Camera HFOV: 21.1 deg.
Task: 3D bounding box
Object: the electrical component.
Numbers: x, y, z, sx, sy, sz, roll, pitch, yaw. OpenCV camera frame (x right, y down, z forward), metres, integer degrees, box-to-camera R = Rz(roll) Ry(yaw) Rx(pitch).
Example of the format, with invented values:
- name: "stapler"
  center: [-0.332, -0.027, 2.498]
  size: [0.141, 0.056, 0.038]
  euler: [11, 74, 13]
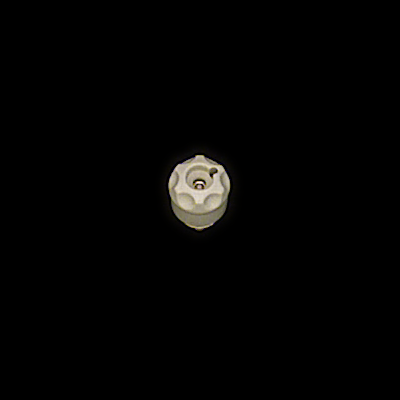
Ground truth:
- name: "electrical component"
  center: [0.000, 0.000, 0.634]
  size: [0.035, 0.035, 0.061]
  euler: [0, -26, 0]
